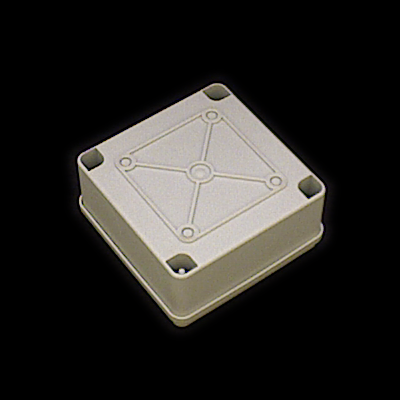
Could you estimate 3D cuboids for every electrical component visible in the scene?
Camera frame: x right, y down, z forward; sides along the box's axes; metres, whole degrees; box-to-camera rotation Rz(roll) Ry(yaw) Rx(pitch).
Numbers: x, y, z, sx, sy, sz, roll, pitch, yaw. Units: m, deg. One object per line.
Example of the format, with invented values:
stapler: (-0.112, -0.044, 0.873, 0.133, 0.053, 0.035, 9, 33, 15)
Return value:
electrical component: (0.000, 0.000, 0.627, 0.109, 0.108, 0.056, -30, -31, -21)
